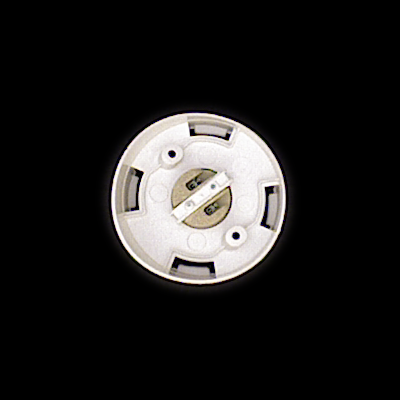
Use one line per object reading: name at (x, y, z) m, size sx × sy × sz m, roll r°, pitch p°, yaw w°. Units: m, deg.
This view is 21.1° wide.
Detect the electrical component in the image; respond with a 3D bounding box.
electrical component at (0.000, 0.000, 0.624) m, size 0.099 × 0.099 × 0.064 m, roll 0°, pitch -6°, yaw 0°
